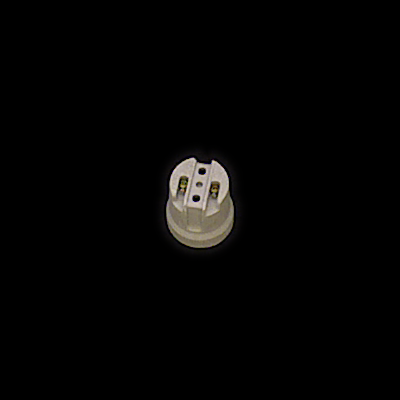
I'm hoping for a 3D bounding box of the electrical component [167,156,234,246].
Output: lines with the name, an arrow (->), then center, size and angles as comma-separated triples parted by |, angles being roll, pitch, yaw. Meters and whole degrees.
electrical component -> 0.000, 0.000, 0.633 | 0.040, 0.040, 0.046 | 0, -27, 0
